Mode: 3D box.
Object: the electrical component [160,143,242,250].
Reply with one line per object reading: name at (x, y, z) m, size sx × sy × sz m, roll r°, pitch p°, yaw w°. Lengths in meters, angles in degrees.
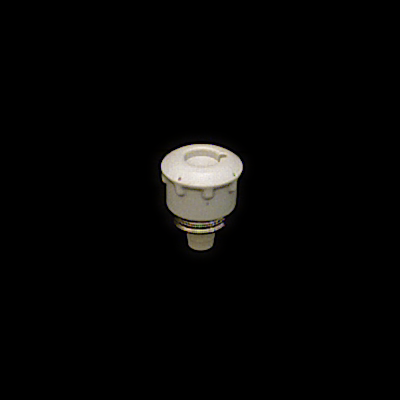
electrical component at (0.000, 0.000, 0.643) m, size 0.048 × 0.063 × 0.047 m, roll 1°, pitch 32°, yaw 0°
